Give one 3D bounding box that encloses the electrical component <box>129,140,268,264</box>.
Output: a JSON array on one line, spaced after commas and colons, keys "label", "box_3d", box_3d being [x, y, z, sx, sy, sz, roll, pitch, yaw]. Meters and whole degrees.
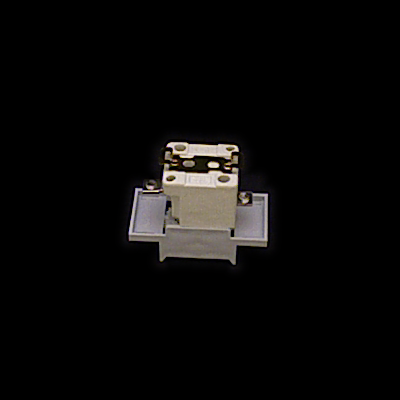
[{"label": "electrical component", "box_3d": [0.000, 0.000, 0.630, 0.081, 0.064, 0.042, 2, 42, 1]}]
